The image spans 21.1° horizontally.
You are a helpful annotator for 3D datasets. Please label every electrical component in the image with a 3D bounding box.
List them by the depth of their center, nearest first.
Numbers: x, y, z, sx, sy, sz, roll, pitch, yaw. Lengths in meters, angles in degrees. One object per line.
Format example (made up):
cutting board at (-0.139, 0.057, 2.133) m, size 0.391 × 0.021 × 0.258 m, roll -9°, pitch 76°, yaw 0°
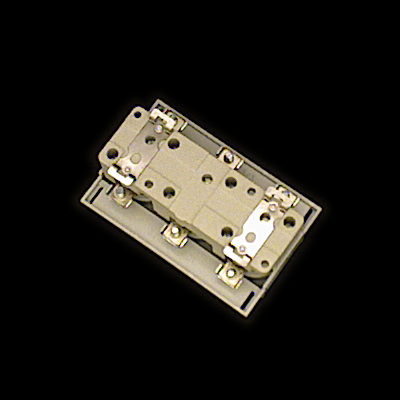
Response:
electrical component at (0.000, 0.000, 0.633) m, size 0.121 × 0.079 × 0.062 m, roll 34°, pitch -12°, yaw 10°
